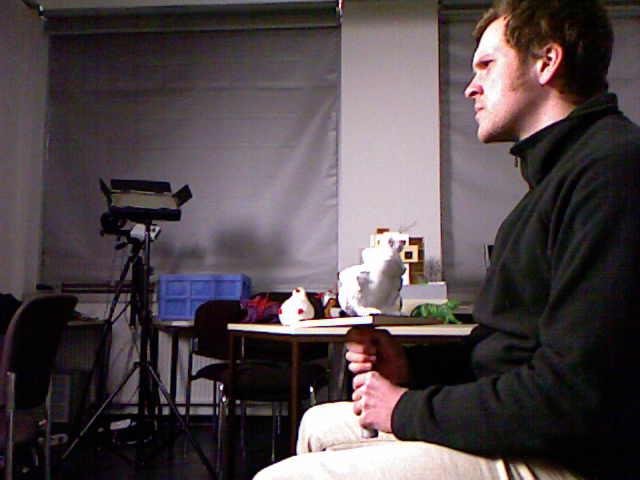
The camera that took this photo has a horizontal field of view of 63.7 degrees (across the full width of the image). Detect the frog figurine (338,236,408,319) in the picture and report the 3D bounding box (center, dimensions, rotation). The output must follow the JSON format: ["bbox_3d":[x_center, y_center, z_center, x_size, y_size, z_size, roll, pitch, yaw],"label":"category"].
[{"bbox_3d":[0.099,0.072,0.963,0.137,0.161,0.122,6,-10,-25],"label":"frog figurine"}]
